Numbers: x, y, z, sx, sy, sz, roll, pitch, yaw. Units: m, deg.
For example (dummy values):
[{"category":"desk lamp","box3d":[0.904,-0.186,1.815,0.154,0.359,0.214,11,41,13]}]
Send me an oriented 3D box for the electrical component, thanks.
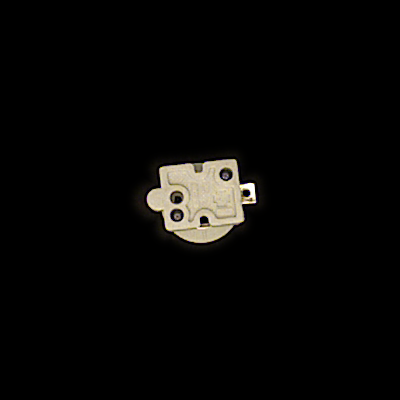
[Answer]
[{"category":"electrical component","box3d":[0.000,0.000,0.639,0.066,0.048,0.055,-6,-7,-1]}]
